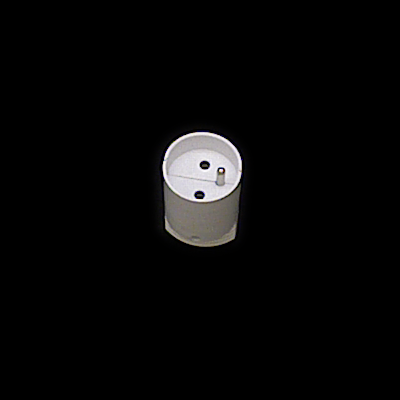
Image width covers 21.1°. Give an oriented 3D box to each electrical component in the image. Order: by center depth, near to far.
[{"bbox_3d":[0.000,0.000,0.617,0.043,0.043,0.081,0,-27,-1],"label":"electrical component"}]
